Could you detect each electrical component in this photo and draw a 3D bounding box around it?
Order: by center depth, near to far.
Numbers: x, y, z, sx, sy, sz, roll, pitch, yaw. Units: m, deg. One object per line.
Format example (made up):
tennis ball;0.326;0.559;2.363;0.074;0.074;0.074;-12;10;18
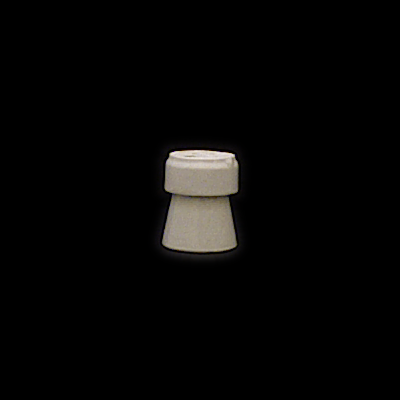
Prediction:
electrical component;0.000;0.000;0.646;0.045;0.055;0.044;2;11;0
